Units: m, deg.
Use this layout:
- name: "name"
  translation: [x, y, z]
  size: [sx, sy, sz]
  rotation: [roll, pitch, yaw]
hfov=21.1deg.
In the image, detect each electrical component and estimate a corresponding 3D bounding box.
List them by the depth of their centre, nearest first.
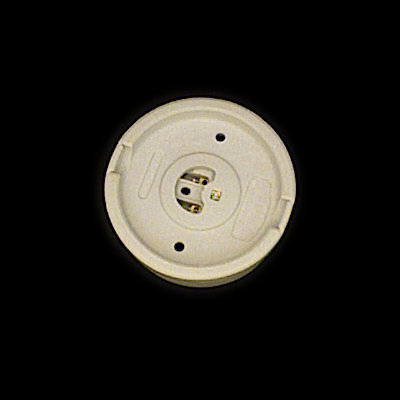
- name: "electrical component"
  translation: [0.000, 0.000, 0.634]
  size: [0.108, 0.108, 0.060]
  rotation: [0, -16, 1]
